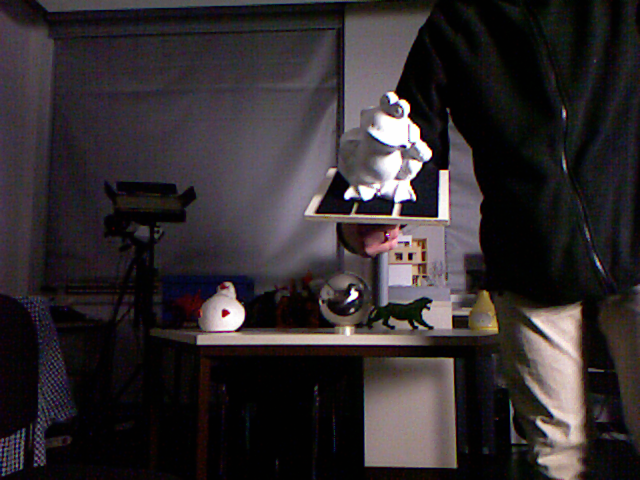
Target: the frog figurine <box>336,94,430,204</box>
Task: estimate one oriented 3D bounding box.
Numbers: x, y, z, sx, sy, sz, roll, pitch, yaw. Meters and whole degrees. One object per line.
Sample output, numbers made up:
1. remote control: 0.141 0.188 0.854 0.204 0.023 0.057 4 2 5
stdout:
1. frog figurine: 0.091 -0.141 0.758 0.138 0.156 0.125 12 32 23
